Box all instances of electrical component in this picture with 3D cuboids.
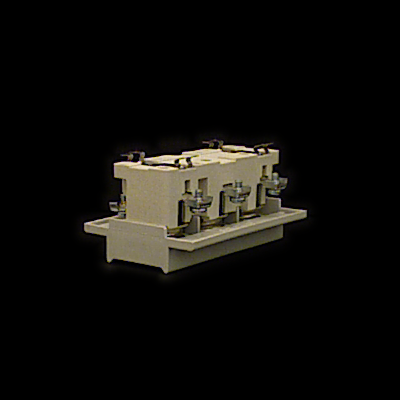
[{"bbox_3d":[0.000,0.000,0.652,0.077,0.063,0.122,8,13,35],"label":"electrical component"}]
